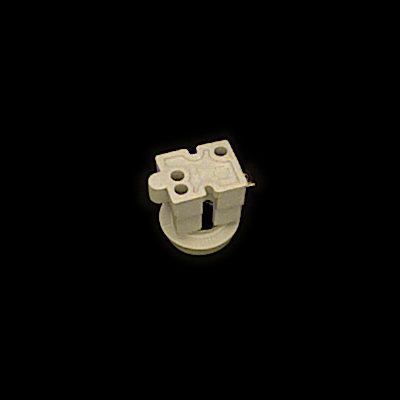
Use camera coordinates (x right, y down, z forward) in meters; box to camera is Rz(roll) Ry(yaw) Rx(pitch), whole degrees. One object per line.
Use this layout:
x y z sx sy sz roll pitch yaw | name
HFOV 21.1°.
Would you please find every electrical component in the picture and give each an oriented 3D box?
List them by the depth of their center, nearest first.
0.000 0.000 0.637 0.067 0.048 0.055 -14 -37 -12 | electrical component
